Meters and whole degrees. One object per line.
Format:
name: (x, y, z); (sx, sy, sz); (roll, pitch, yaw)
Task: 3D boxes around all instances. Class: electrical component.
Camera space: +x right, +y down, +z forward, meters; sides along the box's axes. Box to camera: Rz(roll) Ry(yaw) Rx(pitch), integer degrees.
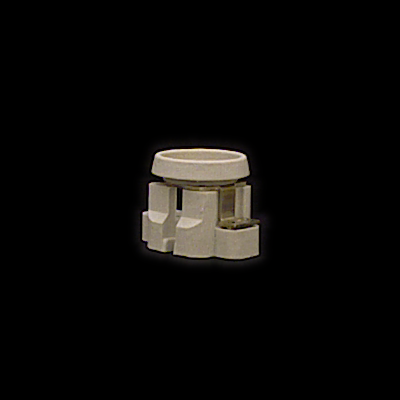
electrical component: (0.000, 0.000, 0.644); (0.078, 0.057, 0.058); (11, 14, 41)
